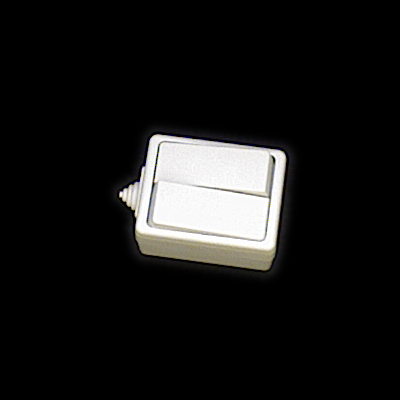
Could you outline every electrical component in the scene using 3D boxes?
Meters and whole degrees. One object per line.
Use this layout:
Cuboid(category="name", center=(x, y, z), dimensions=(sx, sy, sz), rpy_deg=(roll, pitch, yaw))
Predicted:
Cuboid(category="electrical component", center=(0.000, 0.000, 0.626), dimensions=(0.096, 0.062, 0.060), rpy_deg=(8, -17, 2))
